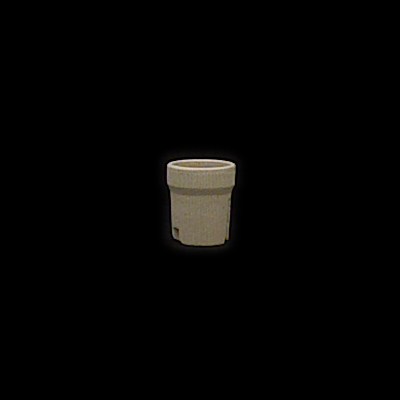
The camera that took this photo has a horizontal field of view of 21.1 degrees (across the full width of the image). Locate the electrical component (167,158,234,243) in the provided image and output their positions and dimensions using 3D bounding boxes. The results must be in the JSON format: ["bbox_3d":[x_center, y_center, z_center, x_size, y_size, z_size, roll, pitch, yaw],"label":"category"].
[{"bbox_3d":[0.000,0.000,0.645,0.040,0.046,0.040,1,11,0],"label":"electrical component"}]
